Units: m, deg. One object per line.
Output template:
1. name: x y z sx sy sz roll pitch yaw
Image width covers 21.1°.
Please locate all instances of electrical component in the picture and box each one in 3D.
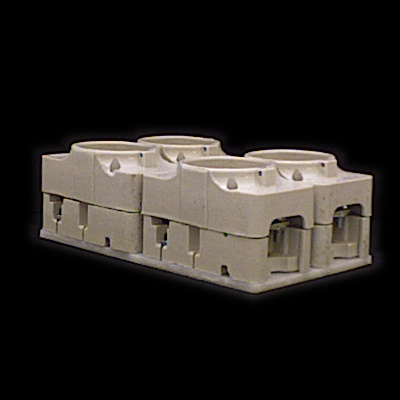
1. electrical component: 0.000 0.000 0.645 0.185 0.061 0.105 11 14 44
